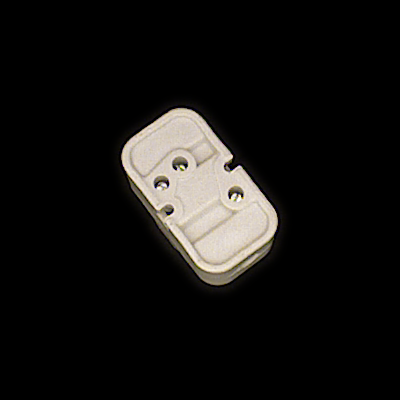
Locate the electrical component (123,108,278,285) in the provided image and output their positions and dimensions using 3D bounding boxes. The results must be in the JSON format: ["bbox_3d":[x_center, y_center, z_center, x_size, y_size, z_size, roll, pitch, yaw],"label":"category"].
[{"bbox_3d":[0.000,0.000,0.634,0.054,0.095,0.059,-36,-12,-9],"label":"electrical component"}]
